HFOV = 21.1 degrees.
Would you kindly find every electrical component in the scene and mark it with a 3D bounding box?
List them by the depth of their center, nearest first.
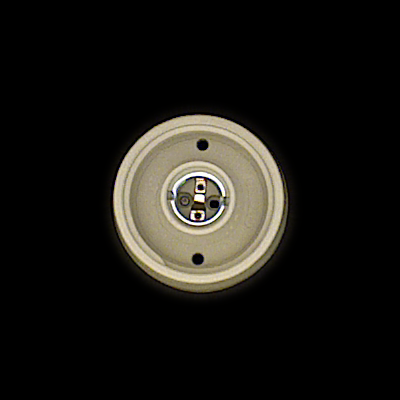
[{"bbox_3d":[0.000,0.000,0.634,0.108,0.108,0.060,0,-6,0],"label":"electrical component"}]
